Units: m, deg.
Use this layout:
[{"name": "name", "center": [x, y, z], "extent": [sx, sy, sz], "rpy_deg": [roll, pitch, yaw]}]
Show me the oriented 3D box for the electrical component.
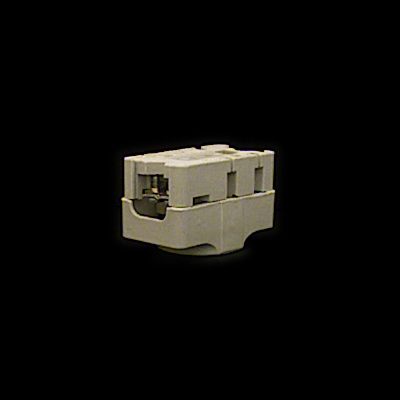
[{"name": "electrical component", "center": [0.000, 0.000, 0.652], "extent": [0.049, 0.056, 0.090], "rpy_deg": [10, 14, 39]}]
